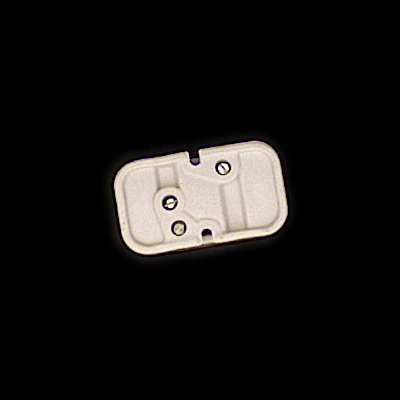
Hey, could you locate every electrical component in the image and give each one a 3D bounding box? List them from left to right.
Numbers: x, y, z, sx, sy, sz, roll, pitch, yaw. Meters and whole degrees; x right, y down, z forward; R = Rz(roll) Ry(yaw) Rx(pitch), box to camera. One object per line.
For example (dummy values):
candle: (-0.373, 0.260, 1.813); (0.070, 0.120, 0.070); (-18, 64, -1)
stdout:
electrical component: (0.000, 0.000, 0.637); (0.095, 0.054, 0.059); (-9, -6, -1)
